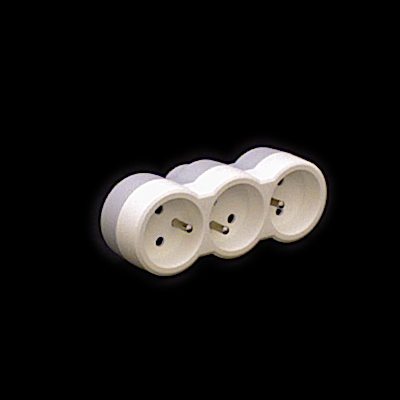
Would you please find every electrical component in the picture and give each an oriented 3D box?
[{"bbox_3d":[0.000,0.000,0.638,0.138,0.053,0.073,-14,24,-33],"label":"electrical component"}]
